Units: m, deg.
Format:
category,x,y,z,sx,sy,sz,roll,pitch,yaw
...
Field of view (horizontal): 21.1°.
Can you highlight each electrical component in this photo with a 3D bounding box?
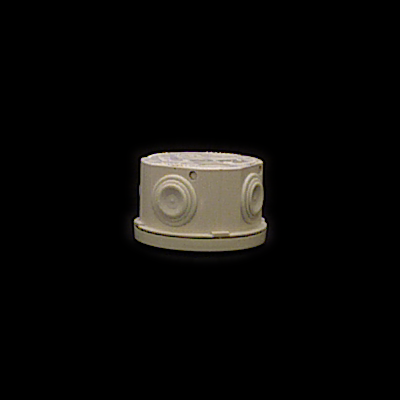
category,x,y,z,sx,sy,sz,roll,pitch,yaw
electrical component,0.000,0.000,0.646,0.080,0.051,0.079,2,10,0
